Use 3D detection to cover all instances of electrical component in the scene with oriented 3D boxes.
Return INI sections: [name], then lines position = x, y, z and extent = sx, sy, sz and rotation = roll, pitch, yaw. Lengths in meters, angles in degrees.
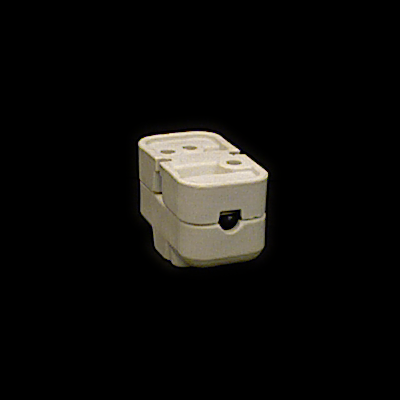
[electrical component]
position = 0.000, 0.000, 0.643
extent = 0.054, 0.060, 0.093
rotation = -8, 24, -21
